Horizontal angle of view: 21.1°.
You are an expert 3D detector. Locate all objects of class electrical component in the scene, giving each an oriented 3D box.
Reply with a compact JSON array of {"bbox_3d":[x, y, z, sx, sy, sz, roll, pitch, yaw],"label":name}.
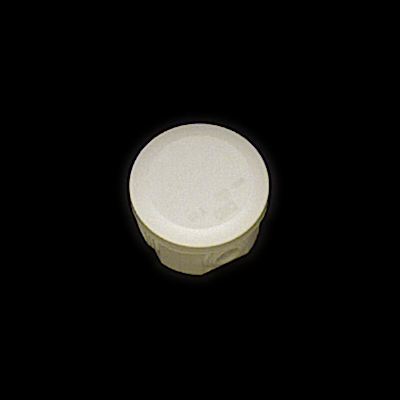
[{"bbox_3d":[0.000,0.000,0.629,0.080,0.080,0.050,0,-27,0],"label":"electrical component"}]
